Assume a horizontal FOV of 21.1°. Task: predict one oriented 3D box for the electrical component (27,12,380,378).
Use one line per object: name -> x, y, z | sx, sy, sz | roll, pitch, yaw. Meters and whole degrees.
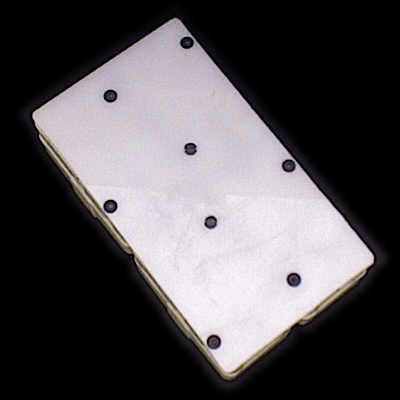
electrical component -> 0.000, 0.000, 0.625 | 0.106, 0.186, 0.060 | -36, -14, -10
